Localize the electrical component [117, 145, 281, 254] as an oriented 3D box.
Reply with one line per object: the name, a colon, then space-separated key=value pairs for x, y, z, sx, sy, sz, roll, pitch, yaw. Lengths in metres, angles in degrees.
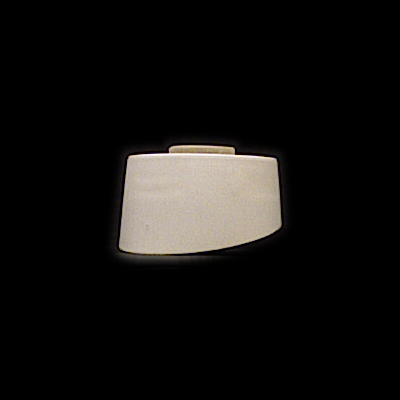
electrical component: x=0.000 y=0.000 z=0.650 sx=0.099 sy=0.064 sz=0.099 roll=1 pitch=0 yaw=0
